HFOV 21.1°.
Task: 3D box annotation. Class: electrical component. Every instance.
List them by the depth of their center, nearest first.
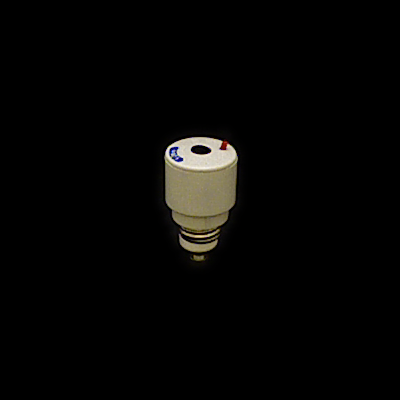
[{"bbox_3d":[0.000,0.000,0.629,0.040,0.079,0.039,1,31,-1],"label":"electrical component"}]
